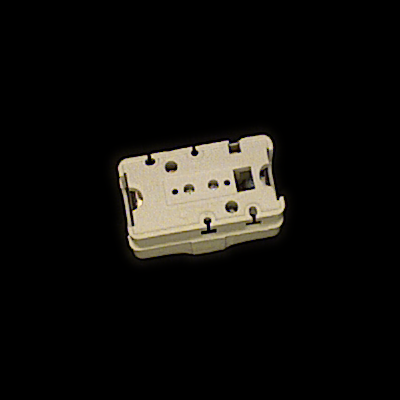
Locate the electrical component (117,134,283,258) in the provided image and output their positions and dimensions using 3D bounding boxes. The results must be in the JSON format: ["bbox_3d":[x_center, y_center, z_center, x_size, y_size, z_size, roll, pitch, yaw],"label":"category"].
[{"bbox_3d":[0.000,0.000,0.636,0.090,0.050,0.055,-10,-17,-3],"label":"electrical component"}]
